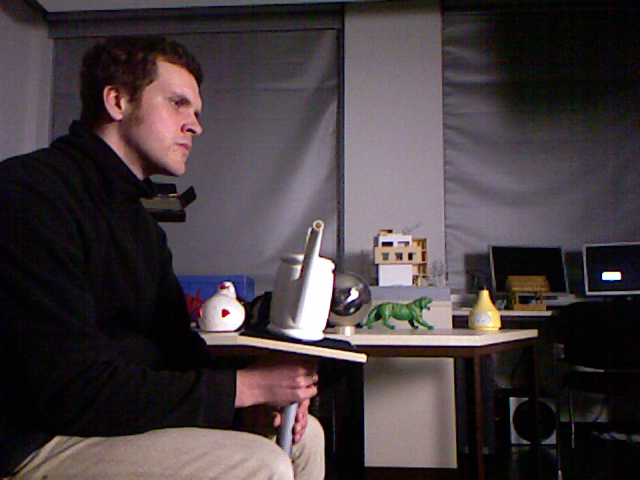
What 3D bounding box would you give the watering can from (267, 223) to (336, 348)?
[{"bbox_3d":[-0.028,0.078,0.855,0.104,0.225,0.346,9,-4,-1],"label":"watering can"}]
